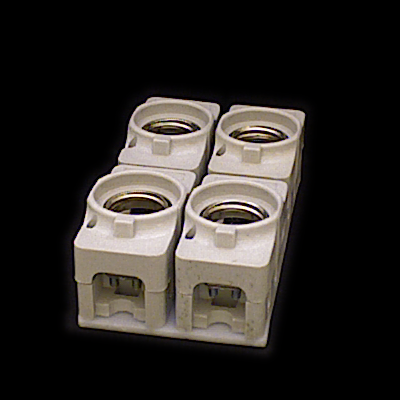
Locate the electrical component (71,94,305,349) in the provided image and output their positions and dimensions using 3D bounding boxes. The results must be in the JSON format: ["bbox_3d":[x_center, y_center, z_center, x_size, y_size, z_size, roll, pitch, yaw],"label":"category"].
[{"bbox_3d":[0.000,0.000,0.633,0.105,0.061,0.184,6,32,8],"label":"electrical component"}]
